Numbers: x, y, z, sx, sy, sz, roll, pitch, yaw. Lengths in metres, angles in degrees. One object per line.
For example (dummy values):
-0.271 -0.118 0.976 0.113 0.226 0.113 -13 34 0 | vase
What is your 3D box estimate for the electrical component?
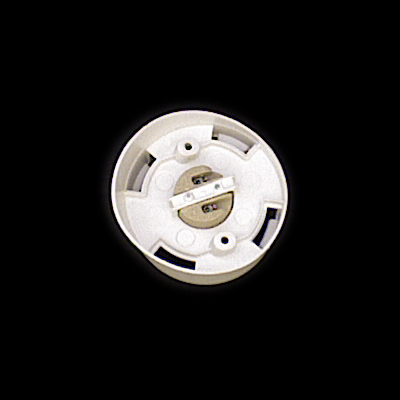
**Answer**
0.000 0.000 0.623 0.099 0.099 0.064 0 -16 1 | electrical component
